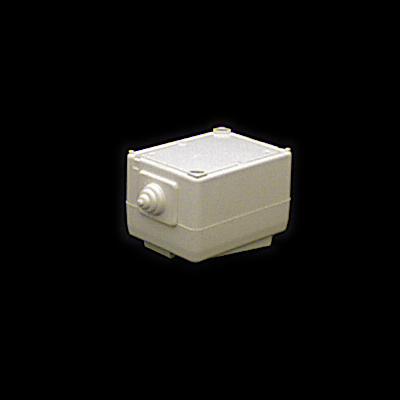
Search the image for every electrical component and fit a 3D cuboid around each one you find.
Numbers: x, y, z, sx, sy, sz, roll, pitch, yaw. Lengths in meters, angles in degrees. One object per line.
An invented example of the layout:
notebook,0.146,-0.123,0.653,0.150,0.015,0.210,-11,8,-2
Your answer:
electrical component,0.000,0.000,0.632,0.096,0.061,0.061,-18,28,-41
